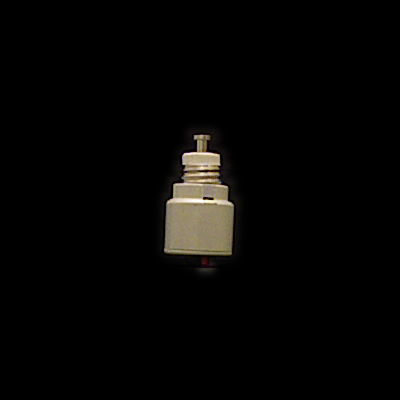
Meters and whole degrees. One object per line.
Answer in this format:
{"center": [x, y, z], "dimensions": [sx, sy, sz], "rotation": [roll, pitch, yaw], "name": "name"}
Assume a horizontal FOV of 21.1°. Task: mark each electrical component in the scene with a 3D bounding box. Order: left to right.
{"center": [0.000, 0.000, 0.649], "dimensions": [0.040, 0.078, 0.040], "rotation": [2, 1, 0], "name": "electrical component"}
